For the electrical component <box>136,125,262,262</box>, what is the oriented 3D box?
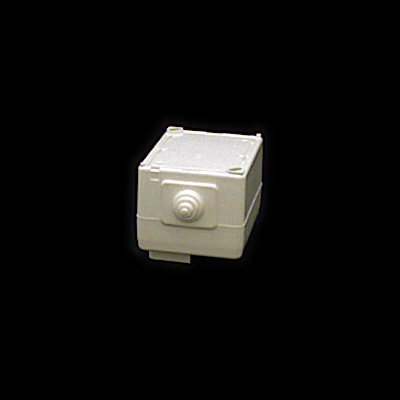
[{"bbox_3d":[-0.001,0.000,0.631,0.061,0.061,0.095,5,21,9],"label":"electrical component"}]
